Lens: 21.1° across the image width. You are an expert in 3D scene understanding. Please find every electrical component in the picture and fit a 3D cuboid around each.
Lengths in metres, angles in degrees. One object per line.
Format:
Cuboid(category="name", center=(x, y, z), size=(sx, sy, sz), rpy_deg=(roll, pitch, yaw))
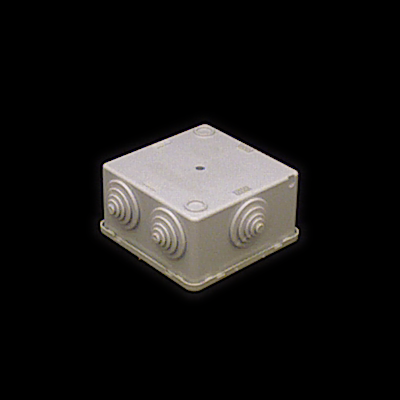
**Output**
Cuboid(category="electrical component", center=(0.000, 0.000, 0.636), size=(0.099, 0.049, 0.099), rpy_deg=(-25, 40, -35))
